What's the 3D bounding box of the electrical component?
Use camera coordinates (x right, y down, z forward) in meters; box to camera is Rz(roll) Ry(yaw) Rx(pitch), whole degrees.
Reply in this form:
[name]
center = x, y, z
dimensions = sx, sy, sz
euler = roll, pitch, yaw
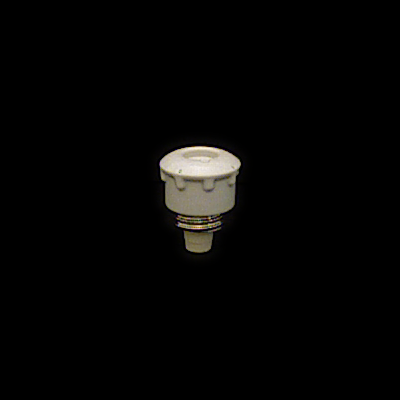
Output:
[electrical component]
center = 0.000, 0.000, 0.646
dimensions = 0.048, 0.063, 0.047
euler = 1, 22, 0
